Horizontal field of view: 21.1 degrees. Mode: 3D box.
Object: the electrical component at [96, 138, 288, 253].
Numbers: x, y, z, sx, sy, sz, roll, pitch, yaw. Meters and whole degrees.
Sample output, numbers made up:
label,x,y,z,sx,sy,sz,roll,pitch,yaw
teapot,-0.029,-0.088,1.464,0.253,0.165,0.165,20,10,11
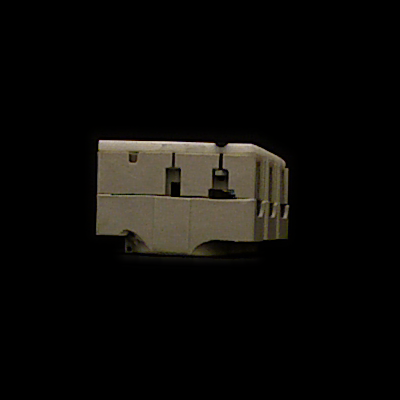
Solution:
label,x,y,z,sx,sy,sz,roll,pitch,yaw
electrical component,0.000,0.000,0.660,0.089,0.062,0.150,2,-1,12
